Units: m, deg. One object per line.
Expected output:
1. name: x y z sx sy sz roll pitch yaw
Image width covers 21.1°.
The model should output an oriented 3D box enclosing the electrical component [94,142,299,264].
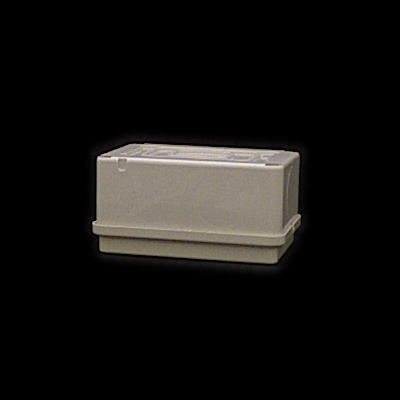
1. electrical component: 0.000 0.000 0.644 0.113 0.057 0.077 4 11 12
